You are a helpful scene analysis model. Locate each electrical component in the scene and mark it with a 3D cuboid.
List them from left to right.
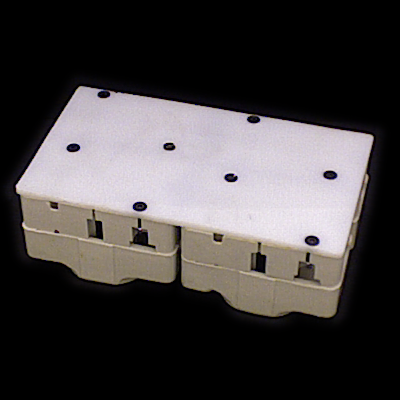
[{"bbox_3d":[0.000,0.000,0.630,0.186,0.061,0.104,11,43,11],"label":"electrical component"}]
